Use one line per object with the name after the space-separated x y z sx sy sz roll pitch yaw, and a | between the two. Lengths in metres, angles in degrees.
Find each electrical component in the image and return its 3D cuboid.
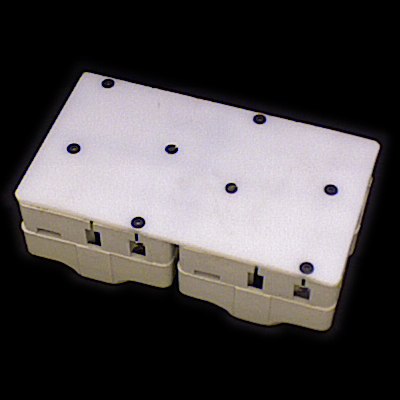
0.000 0.000 0.627 0.186 0.105 0.060 15 -37 11 | electrical component
